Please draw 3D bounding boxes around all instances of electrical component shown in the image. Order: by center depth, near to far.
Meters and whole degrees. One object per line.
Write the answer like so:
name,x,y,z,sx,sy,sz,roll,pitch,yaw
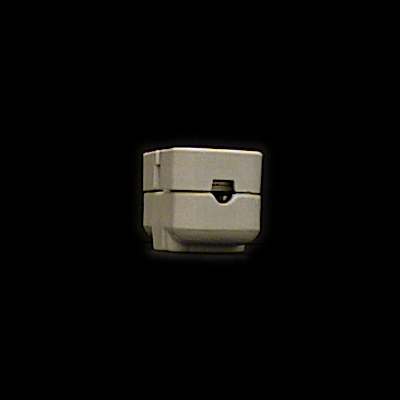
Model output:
electrical component,0.000,0.000,0.654,0.054,0.059,0.094,1,1,-18
